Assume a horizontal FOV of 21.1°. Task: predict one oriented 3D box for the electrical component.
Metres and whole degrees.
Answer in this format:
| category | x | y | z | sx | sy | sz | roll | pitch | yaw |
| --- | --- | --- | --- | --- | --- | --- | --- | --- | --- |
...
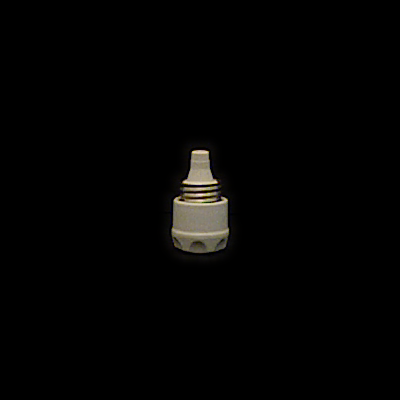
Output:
| category | x | y | z | sx | sy | sz | roll | pitch | yaw |
| --- | --- | --- | --- | --- | --- | --- | --- | --- | --- |
| electrical component | 0.000 | 0.000 | 0.655 | 0.035 | 0.062 | 0.035 | 0 | 11 | 0 |
